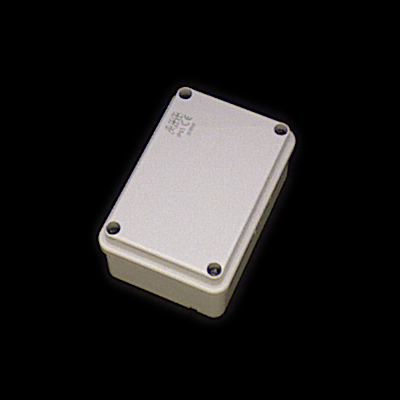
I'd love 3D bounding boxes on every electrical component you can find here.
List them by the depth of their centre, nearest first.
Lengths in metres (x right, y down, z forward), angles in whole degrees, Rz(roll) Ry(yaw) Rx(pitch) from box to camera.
[{"bbox_3d":[0.000,0.000,0.627,0.078,0.113,0.057,21,-25,10],"label":"electrical component"}]
